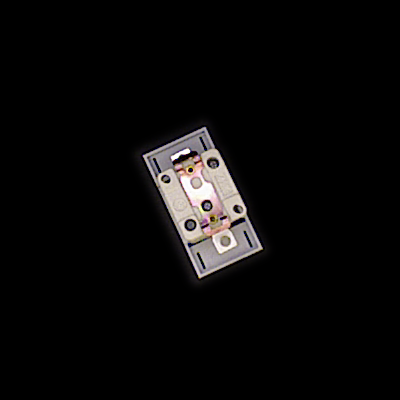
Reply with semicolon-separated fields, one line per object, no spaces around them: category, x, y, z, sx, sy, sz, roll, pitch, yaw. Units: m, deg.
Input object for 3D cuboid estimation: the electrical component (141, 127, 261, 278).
electrical component;0.000;0.000;0.626;0.042;0.081;0.063;-25;-6;-2
